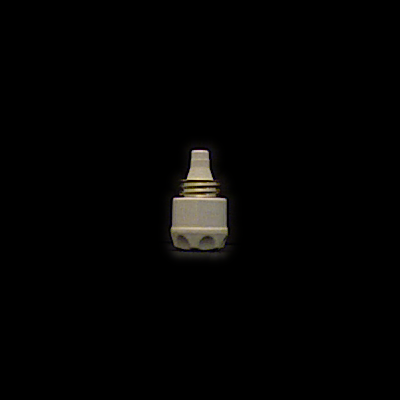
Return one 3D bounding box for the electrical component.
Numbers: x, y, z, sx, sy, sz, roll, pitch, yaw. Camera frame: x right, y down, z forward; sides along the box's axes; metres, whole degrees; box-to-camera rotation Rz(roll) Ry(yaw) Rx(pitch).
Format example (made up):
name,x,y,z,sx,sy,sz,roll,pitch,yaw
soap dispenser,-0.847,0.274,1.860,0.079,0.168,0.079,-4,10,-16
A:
name,x,y,z,sx,sy,sz,roll,pitch,yaw
electrical component,0.000,0.000,0.660,0.035,0.061,0.035,1,0,0
